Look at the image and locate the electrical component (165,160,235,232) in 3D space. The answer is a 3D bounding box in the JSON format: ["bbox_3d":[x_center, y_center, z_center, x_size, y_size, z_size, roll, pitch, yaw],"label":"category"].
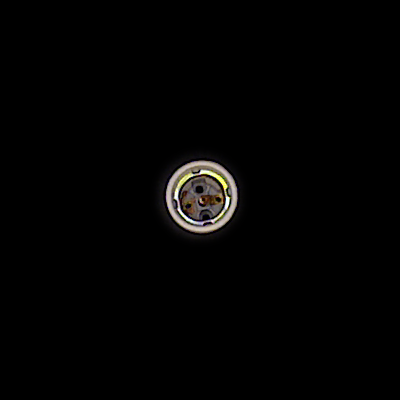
[{"bbox_3d":[0.000,0.000,0.628,0.040,0.040,0.046,0,-7,0],"label":"electrical component"}]
